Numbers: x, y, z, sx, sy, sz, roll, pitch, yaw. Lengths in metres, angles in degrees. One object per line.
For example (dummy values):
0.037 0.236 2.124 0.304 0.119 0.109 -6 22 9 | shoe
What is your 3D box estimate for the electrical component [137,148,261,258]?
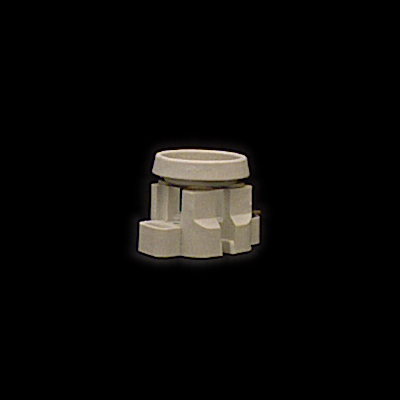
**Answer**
0.000 0.000 0.646 0.078 0.057 0.057 -7 13 -37 | electrical component
